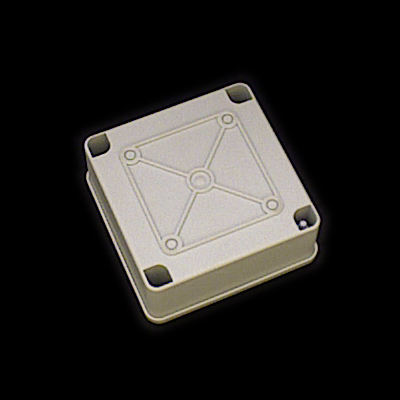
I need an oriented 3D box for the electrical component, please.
[{"bbox_3d":[0.000,0.000,0.628,0.109,0.108,0.056,-21,-24,-11],"label":"electrical component"}]
